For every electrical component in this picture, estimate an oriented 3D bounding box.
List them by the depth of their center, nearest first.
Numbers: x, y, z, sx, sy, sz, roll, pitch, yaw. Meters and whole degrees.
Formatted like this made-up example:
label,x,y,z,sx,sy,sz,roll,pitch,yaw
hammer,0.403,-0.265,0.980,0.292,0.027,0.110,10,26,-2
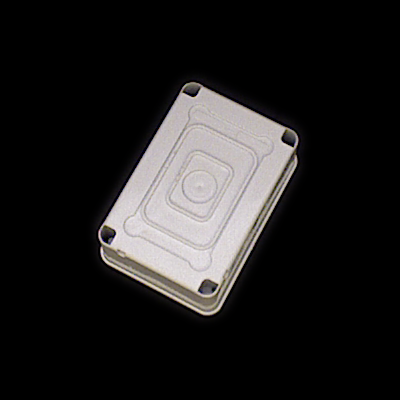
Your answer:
label,x,y,z,sx,sy,sz,roll,pitch,yaw
electrical component,0.000,0.000,0.627,0.078,0.113,0.057,27,-15,8
